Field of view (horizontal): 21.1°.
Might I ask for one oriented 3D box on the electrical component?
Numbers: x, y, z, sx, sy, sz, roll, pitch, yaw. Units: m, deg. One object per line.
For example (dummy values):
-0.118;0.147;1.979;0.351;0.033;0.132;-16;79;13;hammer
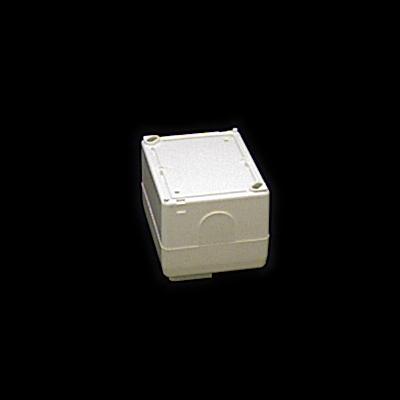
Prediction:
0.000;0.000;0.640;0.062;0.062;0.095;-6;32;-10;electrical component
